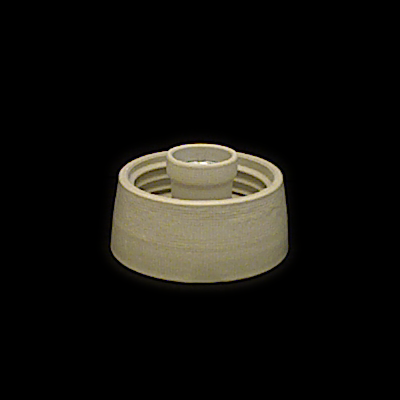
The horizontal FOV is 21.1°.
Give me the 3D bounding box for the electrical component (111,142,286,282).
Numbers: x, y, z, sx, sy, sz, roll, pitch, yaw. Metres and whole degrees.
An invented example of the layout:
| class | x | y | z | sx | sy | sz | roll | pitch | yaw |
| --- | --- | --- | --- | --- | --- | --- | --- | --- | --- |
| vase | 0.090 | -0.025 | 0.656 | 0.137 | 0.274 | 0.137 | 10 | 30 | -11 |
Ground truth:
| class | x | y | z | sx | sy | sz | roll | pitch | yaw |
| --- | --- | --- | --- | --- | --- | --- | --- | --- | --- |
| electrical component | 0.000 | 0.000 | 0.644 | 0.108 | 0.061 | 0.106 | 1 | 21 | 0 |
